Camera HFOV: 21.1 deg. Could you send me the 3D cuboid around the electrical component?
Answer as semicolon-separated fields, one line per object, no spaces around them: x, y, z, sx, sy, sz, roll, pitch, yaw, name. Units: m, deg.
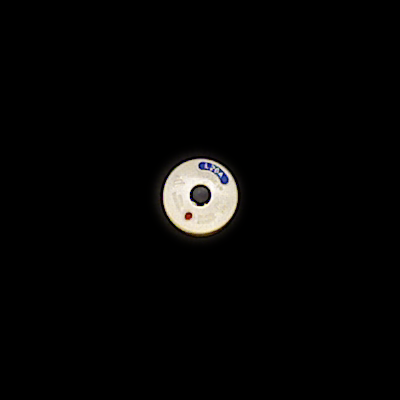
0.000;0.000;0.617;0.040;0.040;0.078;0;-5;1;electrical component
